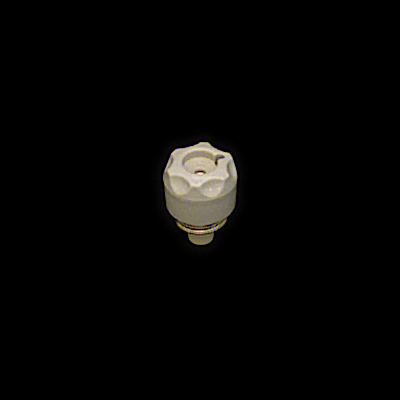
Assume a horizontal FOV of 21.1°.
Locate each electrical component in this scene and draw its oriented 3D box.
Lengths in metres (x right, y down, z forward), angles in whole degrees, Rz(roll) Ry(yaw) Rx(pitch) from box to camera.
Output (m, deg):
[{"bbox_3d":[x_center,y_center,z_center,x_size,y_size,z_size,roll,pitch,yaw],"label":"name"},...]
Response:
[{"bbox_3d":[0.000,0.000,0.637,0.043,0.062,0.043,0,43,1],"label":"electrical component"}]
